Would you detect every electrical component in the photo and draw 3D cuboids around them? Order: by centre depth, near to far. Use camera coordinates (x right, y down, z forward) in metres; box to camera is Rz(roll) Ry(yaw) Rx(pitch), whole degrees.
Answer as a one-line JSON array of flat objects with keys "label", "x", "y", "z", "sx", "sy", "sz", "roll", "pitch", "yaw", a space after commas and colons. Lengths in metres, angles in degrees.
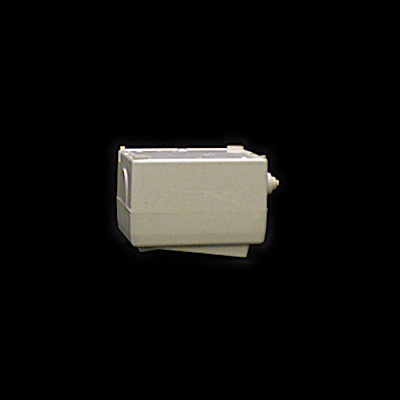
[{"label": "electrical component", "x": 0.000, "y": 0.000, "z": 0.648, "sx": 0.096, "sy": 0.061, "sz": 0.061, "roll": -1, "pitch": 10, "yaw": -13}]
